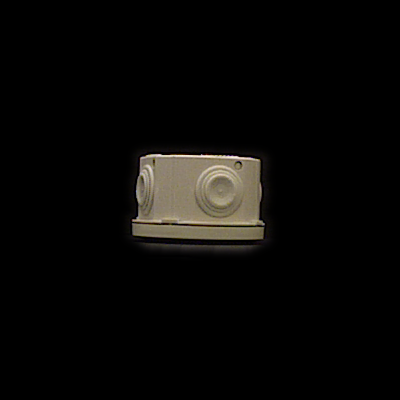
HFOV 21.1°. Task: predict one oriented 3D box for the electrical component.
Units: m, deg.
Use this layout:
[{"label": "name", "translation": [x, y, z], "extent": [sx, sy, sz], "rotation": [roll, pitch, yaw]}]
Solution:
[{"label": "electrical component", "translation": [0.000, 0.000, 0.650], "extent": [0.080, 0.051, 0.080], "rotation": [2, 0, 0]}]
